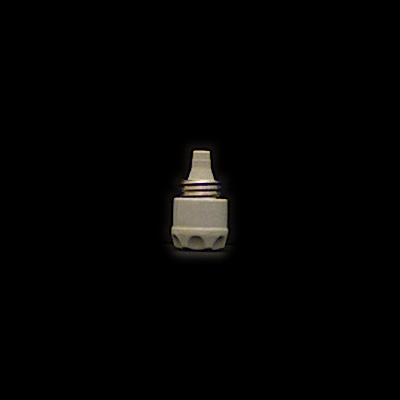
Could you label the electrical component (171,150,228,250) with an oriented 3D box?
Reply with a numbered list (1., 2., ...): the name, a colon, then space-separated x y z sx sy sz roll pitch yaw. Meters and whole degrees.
1. electrical component: 0.000 0.000 0.664 0.035 0.061 0.035 1 3 0
